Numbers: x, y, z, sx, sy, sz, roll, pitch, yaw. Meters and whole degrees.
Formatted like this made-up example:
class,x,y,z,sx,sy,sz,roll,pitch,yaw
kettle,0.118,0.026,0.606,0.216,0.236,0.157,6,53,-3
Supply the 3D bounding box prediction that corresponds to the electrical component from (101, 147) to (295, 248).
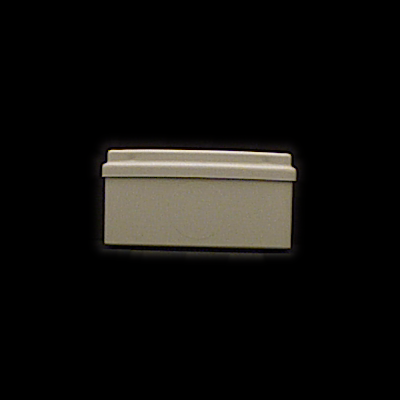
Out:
class,x,y,z,sx,sy,sz,roll,pitch,yaw
electrical component,0.000,0.000,0.648,0.109,0.056,0.108,1,1,1
